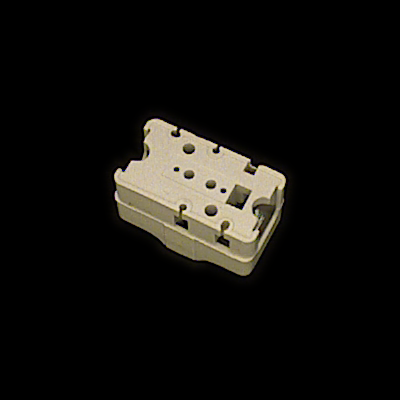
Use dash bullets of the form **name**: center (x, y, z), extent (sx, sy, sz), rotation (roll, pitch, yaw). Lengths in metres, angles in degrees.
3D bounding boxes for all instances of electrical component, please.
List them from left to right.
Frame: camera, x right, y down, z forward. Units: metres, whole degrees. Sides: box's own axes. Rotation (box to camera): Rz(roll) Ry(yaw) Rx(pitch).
- **electrical component**: center (0.000, 0.000, 0.636), extent (0.089, 0.050, 0.055), rotation (25, -25, 11)
